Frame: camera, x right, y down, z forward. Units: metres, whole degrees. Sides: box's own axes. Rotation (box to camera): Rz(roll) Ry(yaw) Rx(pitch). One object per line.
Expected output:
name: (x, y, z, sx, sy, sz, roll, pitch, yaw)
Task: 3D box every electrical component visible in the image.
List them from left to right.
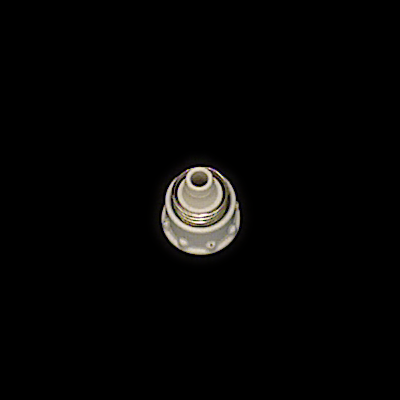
electrical component: (0.000, 0.000, 0.632, 0.048, 0.048, 0.062, 0, -26, 1)
